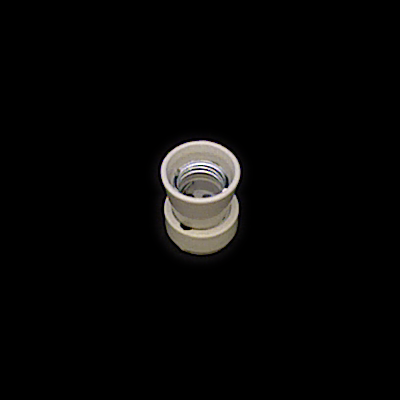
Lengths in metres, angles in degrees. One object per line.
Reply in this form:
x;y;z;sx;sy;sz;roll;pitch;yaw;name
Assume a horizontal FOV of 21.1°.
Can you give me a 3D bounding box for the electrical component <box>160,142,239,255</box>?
0.000;0.000;0.629;0.045;0.044;0.055;0;-38;0;electrical component
